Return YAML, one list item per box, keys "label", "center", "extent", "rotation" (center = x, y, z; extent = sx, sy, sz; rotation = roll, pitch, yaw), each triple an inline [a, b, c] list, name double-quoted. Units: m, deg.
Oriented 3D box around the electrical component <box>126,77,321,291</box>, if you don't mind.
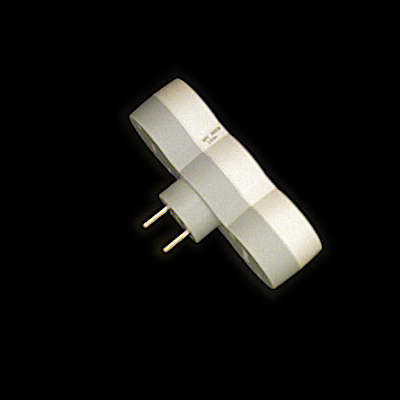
- label: "electrical component"
  center: [0.000, 0.000, 0.637]
  extent: [0.074, 0.138, 0.052]
  rotation: [-38, -13, -8]
